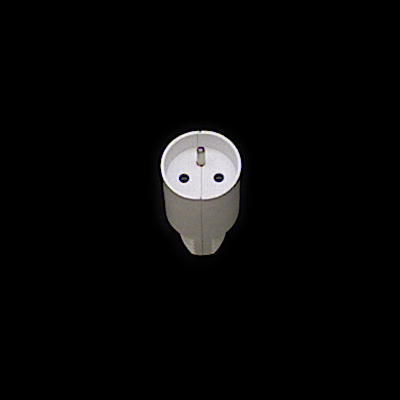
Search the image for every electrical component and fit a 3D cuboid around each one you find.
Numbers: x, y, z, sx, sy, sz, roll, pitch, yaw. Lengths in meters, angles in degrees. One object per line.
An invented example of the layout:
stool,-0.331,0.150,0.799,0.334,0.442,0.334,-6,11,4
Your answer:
electrical component,0.000,0.000,0.617,0.043,0.043,0.081,0,-28,0
